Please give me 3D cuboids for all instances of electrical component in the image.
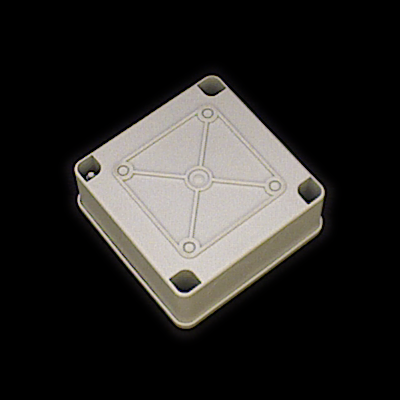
[{"bbox_3d":[0.000,0.000,0.627,0.109,0.108,0.056,-35,-22,-16],"label":"electrical component"}]
